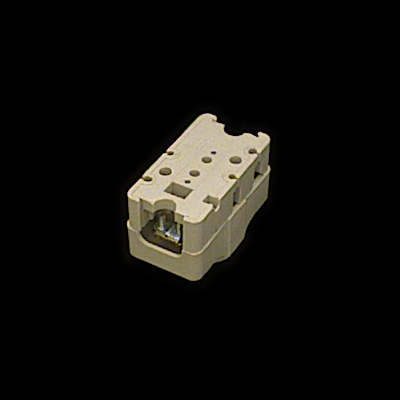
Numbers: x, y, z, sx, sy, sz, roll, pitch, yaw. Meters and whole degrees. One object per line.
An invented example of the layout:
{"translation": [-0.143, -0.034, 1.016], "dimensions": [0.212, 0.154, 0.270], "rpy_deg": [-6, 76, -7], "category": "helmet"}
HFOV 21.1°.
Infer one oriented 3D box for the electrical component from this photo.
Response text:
{"translation": [0.000, 0.000, 0.639], "dimensions": [0.050, 0.056, 0.089], "rpy_deg": [22, 47, 21], "category": "electrical component"}
